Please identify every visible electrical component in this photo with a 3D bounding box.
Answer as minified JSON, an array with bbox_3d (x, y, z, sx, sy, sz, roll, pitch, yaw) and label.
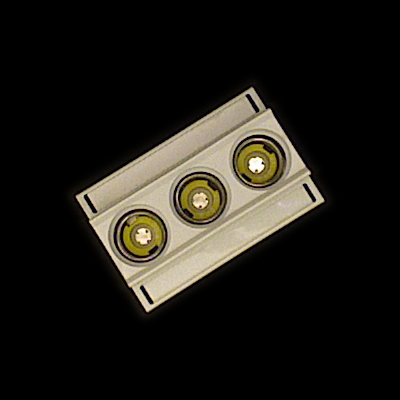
[{"bbox_3d":[0.000,0.000,0.637,0.121,0.079,0.063,-32,-4,-3],"label":"electrical component"}]
